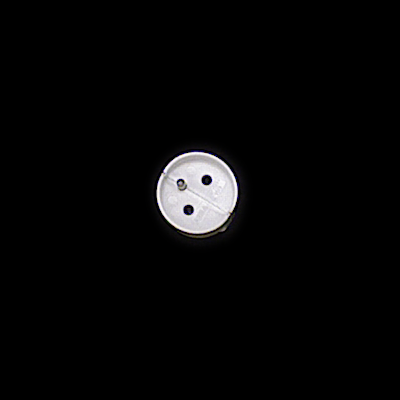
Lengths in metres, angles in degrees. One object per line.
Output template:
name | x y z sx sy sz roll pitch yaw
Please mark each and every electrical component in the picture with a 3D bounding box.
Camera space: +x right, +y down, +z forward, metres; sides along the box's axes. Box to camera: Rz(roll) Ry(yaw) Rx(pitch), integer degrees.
electrical component | 0.000 0.000 0.615 0.043 0.043 0.080 0 -7 0
